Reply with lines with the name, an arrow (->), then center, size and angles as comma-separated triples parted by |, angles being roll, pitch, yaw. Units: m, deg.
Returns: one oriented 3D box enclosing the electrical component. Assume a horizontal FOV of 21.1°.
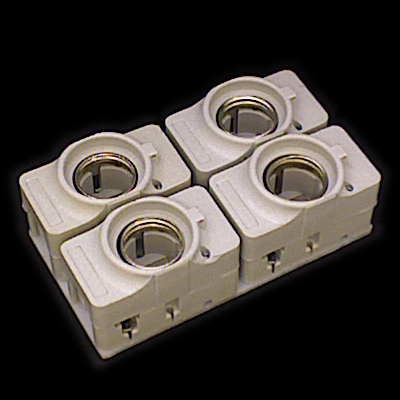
electrical component -> 0.000, 0.000, 0.628 | 0.186, 0.105, 0.060 | -23, -34, -18
